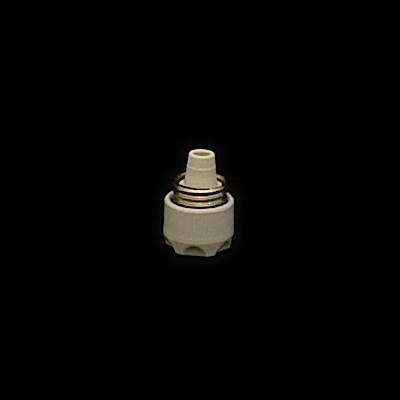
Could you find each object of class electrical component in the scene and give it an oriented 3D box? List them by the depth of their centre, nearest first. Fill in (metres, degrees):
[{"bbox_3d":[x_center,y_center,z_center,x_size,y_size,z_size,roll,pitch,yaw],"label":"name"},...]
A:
[{"bbox_3d":[0.000,0.000,0.646,0.043,0.063,0.043,2,22,0],"label":"electrical component"}]
